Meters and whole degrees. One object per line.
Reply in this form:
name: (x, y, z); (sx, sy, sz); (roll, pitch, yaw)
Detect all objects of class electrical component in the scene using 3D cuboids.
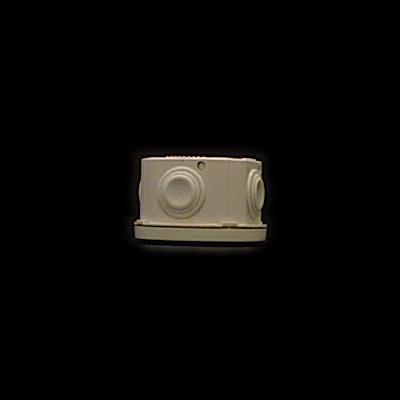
electrical component: (0.000, 0.000, 0.649); (0.080, 0.051, 0.080); (1, 1, 0)
